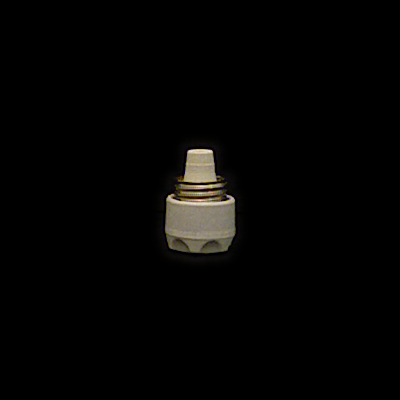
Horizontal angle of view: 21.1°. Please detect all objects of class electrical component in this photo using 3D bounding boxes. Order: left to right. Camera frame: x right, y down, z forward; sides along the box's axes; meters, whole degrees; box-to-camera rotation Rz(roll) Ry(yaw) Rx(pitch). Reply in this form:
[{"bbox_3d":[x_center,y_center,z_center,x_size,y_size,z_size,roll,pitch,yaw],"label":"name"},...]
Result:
[{"bbox_3d":[0.000,0.000,0.652,0.043,0.062,0.043,0,11,0],"label":"electrical component"}]
